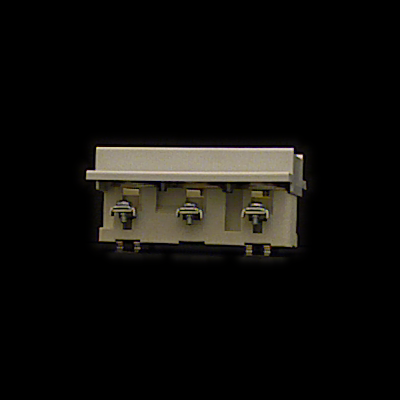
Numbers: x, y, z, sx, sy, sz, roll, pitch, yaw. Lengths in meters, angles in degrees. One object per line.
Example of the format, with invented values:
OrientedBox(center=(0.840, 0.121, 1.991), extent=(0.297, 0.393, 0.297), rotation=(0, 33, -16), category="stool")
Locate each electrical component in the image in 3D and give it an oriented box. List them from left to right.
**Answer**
OrientedBox(center=(0.000, 0.000, 0.664), extent=(0.121, 0.063, 0.079), rotation=(1, -1, 13), category="electrical component")
